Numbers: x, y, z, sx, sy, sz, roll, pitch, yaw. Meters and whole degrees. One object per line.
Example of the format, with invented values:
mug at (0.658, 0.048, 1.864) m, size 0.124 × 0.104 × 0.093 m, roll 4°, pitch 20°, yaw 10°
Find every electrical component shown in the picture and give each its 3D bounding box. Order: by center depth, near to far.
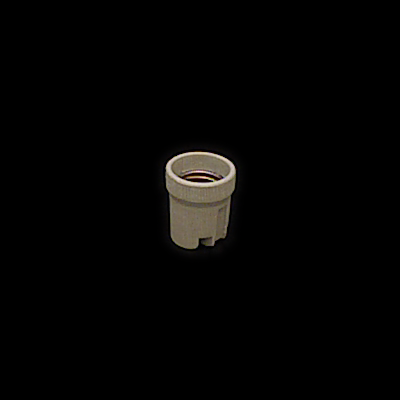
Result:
electrical component at (0.000, 0.000, 0.635) m, size 0.040 × 0.047 × 0.039 m, roll 1°, pitch 32°, yaw 0°
